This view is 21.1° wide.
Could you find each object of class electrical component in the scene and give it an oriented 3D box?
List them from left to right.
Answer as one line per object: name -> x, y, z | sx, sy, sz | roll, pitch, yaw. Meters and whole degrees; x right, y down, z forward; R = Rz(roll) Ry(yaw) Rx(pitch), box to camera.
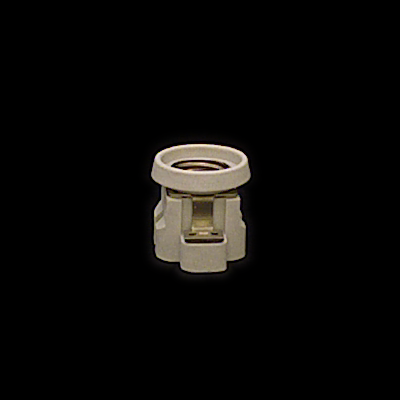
electrical component -> 0.000, 0.000, 0.638 | 0.058, 0.057, 0.077 | -1, 21, -5
